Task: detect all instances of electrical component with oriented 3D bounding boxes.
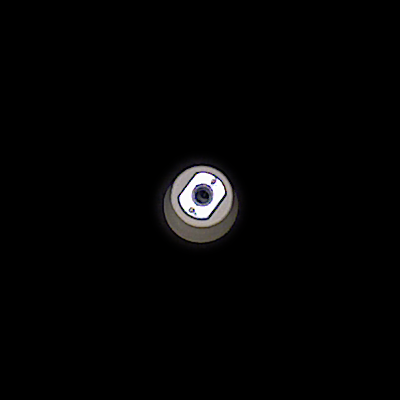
[{"bbox_3d":[0.000,0.000,0.625,0.044,0.044,0.065,0,-6,0],"label":"electrical component"}]
